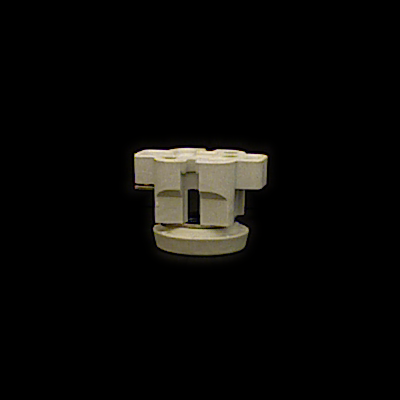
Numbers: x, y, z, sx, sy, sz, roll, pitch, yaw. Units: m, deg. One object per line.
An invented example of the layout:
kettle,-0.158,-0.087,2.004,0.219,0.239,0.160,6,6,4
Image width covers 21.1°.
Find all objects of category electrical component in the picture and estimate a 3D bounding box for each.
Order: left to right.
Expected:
electrical component,0.000,0.000,0.650,0.078,0.057,0.057,2,12,12
